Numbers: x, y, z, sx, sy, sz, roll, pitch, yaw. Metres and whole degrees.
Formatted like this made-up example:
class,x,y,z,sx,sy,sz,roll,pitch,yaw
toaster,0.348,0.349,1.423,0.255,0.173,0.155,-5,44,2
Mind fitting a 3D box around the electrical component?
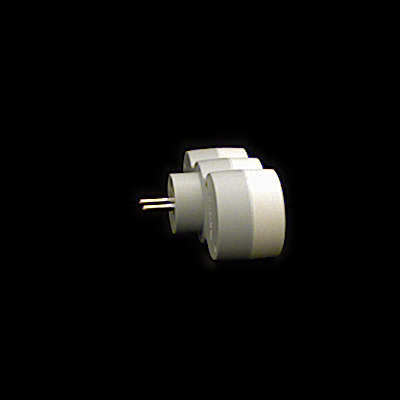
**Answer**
class,x,y,z,sx,sy,sz,roll,pitch,yaw
electrical component,0.000,0.000,0.652,0.074,0.052,0.136,-2,12,-9
